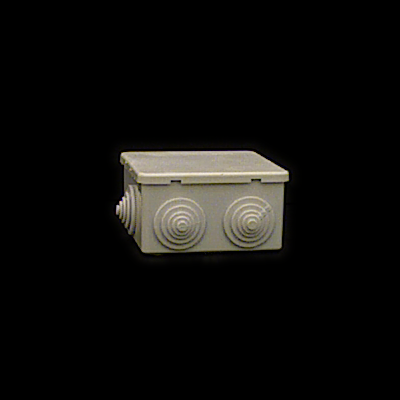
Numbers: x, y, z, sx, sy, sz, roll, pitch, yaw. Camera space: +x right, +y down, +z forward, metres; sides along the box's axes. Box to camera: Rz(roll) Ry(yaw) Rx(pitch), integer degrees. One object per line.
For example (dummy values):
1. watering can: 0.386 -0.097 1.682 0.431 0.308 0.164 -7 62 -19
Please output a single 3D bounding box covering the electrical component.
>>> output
1. electrical component: 0.000 0.000 0.654 0.100 0.049 0.098 -1 11 -12
